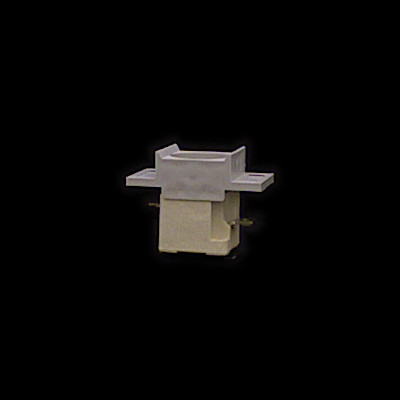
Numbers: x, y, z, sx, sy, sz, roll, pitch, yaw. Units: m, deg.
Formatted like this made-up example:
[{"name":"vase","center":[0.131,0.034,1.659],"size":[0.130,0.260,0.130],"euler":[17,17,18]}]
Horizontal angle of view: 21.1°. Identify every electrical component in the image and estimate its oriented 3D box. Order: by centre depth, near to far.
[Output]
[{"name":"electrical component","center":[0.000,0.000,0.643],"size":[0.081,0.064,0.042],"euler":[3,10,14]}]
